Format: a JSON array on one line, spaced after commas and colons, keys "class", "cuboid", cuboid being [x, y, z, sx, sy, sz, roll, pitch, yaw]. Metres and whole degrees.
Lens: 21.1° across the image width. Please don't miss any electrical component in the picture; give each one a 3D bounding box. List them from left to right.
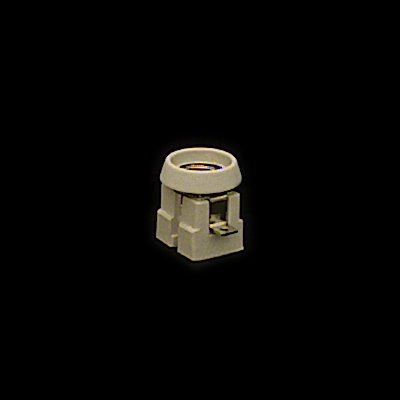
[{"class": "electrical component", "cuboid": [0.000, 0.000, 0.647, 0.048, 0.056, 0.065, -16, 27, -31]}]
